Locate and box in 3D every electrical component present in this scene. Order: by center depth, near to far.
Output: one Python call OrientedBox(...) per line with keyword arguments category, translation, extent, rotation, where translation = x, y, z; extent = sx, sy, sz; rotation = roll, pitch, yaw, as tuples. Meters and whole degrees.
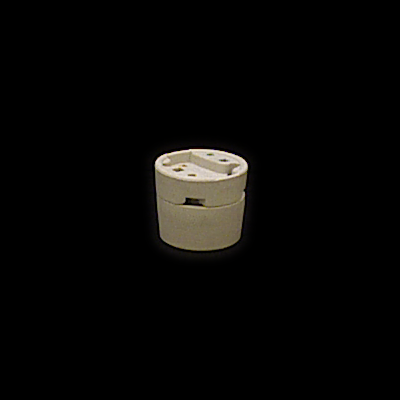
OrientedBox(category="electrical component", translation=(0.000, 0.000, 0.641), extent=(0.055, 0.047, 0.055), rotation=(1, 21, 0))
